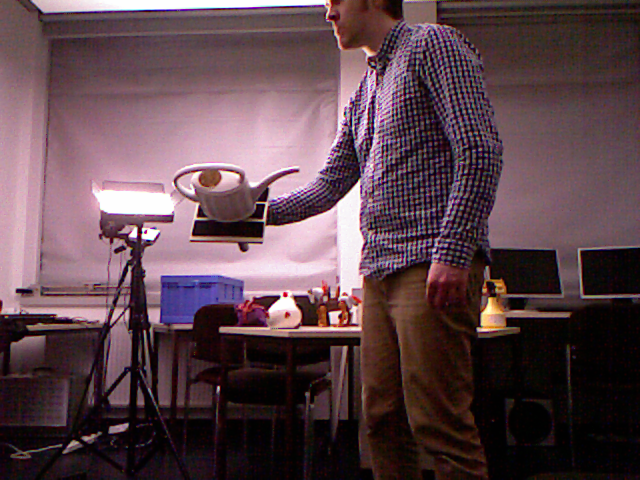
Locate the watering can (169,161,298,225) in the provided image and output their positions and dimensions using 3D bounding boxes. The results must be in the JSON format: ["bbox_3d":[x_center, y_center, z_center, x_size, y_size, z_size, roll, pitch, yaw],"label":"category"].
[{"bbox_3d":[-0.222,-0.133,1.381,0.348,0.106,0.220,-1,-31,5],"label":"watering can"}]
